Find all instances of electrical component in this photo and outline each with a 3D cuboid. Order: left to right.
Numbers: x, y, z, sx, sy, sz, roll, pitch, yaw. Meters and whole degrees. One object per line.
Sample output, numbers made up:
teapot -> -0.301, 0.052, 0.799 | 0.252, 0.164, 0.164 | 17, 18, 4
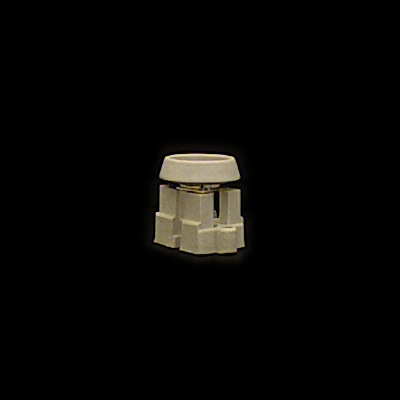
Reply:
electrical component -> 0.000, 0.000, 0.651 | 0.049, 0.056, 0.065 | -7, 14, -42
